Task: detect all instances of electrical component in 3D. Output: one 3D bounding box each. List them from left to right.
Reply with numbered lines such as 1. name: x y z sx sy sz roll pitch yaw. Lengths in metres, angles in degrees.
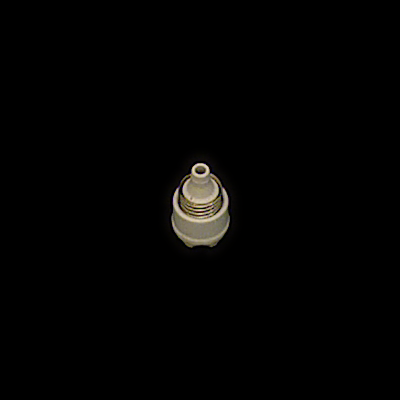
1. electrical component: 0.000 0.000 0.641 0.035 0.035 0.062 0 -36 0
